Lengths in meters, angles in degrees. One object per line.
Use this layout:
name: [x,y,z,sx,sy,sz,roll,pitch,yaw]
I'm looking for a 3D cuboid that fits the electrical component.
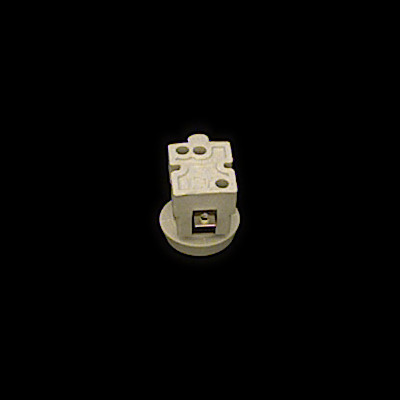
electrical component: [0.000,0.000,0.641,0.048,0.056,0.066,-2,44,-5]
